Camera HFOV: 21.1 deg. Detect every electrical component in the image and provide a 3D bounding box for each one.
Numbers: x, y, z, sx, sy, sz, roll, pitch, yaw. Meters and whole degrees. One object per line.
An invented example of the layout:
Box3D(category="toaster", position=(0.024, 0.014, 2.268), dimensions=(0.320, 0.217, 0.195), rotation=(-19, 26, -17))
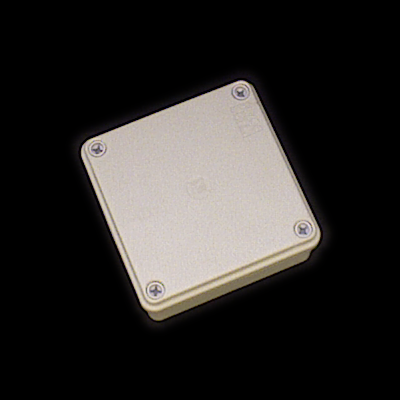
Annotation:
Box3D(category="electrical component", position=(0.000, 0.000, 0.629), dimensions=(0.109, 0.109, 0.056), rotation=(-22, -16, -6))
